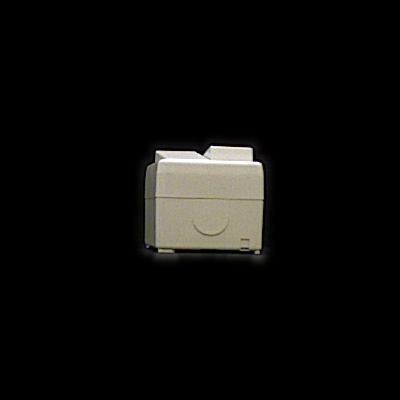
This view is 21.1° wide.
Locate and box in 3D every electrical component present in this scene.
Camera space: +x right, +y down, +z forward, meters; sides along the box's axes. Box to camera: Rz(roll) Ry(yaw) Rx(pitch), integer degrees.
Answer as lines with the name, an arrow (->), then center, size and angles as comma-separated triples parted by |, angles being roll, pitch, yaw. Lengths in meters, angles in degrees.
electrical component -> 0.000, 0.000, 0.652 | 0.062, 0.061, 0.096 | 1, 0, -8
